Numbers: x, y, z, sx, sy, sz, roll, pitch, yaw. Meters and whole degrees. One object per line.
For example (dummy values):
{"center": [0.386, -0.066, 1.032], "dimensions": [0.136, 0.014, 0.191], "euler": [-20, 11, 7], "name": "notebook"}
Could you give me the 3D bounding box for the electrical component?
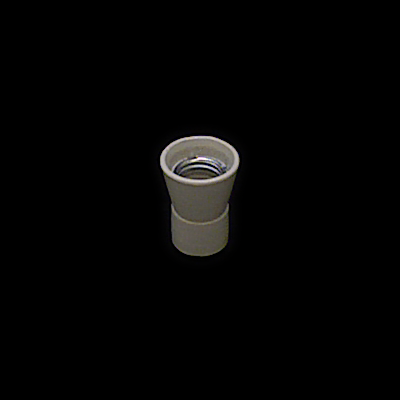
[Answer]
{"center": [0.000, 0.000, 0.631], "dimensions": [0.044, 0.066, 0.044], "euler": [0, 41, 0], "name": "electrical component"}
